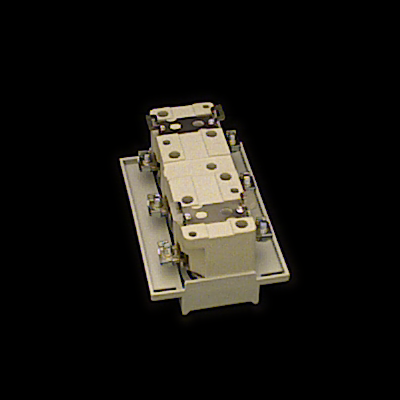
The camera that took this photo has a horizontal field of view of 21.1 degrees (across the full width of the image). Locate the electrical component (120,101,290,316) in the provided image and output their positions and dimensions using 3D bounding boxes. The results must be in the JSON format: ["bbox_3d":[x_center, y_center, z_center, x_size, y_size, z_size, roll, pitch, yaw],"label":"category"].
[{"bbox_3d":[0.000,0.000,0.636,0.079,0.063,0.120,-8,43,-9],"label":"electrical component"}]
